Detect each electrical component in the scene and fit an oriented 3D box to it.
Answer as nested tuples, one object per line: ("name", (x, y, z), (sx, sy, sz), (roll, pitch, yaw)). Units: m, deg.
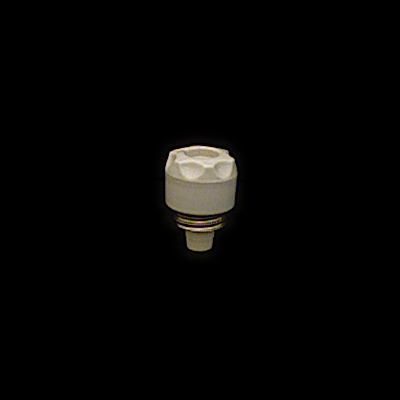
("electrical component", (0.000, 0.000, 0.646), (0.043, 0.063, 0.043), (2, 22, 0))
